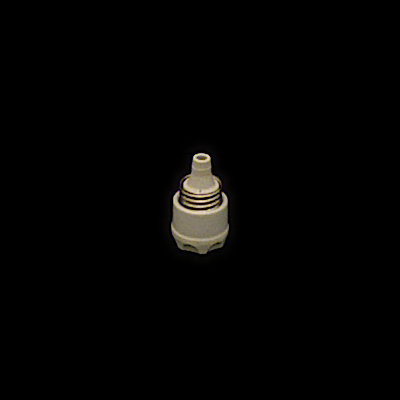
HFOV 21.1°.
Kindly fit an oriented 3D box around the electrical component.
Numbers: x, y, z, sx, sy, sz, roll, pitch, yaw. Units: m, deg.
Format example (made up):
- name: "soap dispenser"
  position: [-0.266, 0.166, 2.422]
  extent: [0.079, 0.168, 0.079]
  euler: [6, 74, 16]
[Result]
- name: "electrical component"
  position: [0.000, 0.000, 0.648]
  extent: [0.035, 0.062, 0.034]
  euler: [1, 33, -1]
